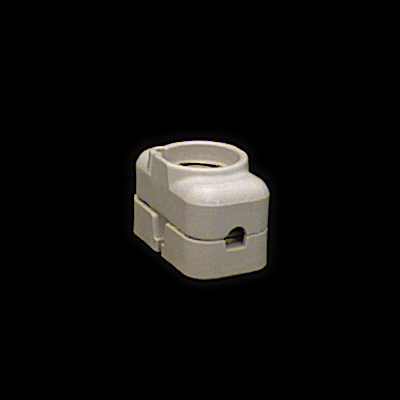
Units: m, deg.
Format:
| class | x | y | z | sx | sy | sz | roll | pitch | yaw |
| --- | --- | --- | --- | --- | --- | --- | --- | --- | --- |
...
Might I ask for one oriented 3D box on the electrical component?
| class | x | y | z | sx | sy | sz | roll | pitch | yaw |
| --- | --- | --- | --- | --- | --- | --- | --- | --- | --- |
| electrical component | 0.000 | 0.000 | 0.645 | 0.054 | 0.060 | 0.093 | -10 | 24 | -26 |
